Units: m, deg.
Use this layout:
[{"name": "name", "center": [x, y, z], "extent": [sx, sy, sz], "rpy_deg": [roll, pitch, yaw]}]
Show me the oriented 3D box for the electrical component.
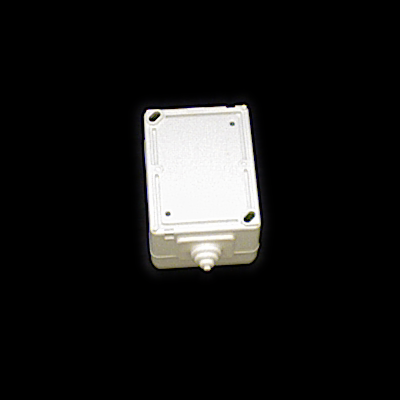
[{"name": "electrical component", "center": [0.000, 0.000, 0.622], "extent": [0.062, 0.097, 0.060], "rpy_deg": [-3, -28, -2]}]
